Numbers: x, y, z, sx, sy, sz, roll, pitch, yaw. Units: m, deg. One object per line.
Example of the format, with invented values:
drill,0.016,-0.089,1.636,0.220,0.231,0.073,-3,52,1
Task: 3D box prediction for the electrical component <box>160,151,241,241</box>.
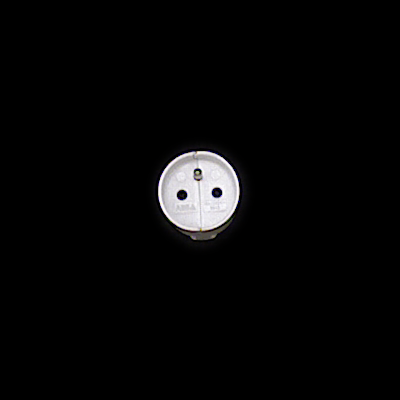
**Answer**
electrical component,0.000,0.000,0.616,0.043,0.043,0.080,0,-7,0
